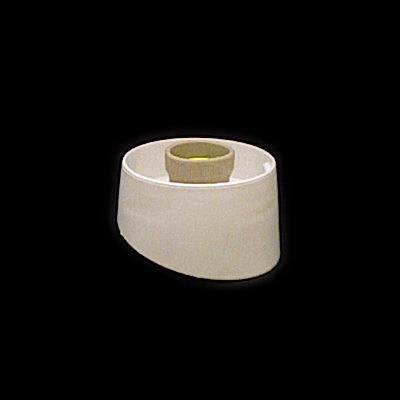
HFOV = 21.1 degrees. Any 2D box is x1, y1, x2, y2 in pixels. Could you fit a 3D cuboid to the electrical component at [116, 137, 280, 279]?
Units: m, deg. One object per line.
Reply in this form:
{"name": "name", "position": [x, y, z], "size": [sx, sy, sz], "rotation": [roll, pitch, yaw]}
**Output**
{"name": "electrical component", "position": [0.000, 0.000, 0.638], "size": [0.099, 0.065, 0.097], "rotation": [1, 21, 0]}
